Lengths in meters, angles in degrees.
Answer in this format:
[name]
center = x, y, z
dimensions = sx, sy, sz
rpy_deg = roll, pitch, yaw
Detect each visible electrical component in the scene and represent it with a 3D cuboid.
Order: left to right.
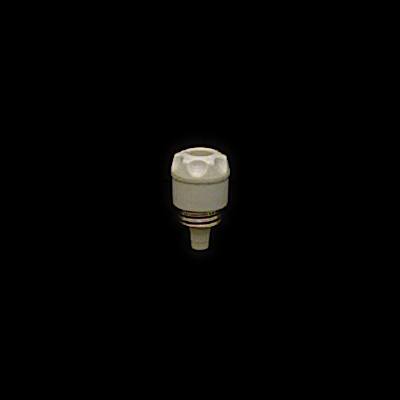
[electrical component]
center = 0.000, 0.000, 0.647
dimensions = 0.035, 0.062, 0.034
rpy_deg = 1, 22, 0
